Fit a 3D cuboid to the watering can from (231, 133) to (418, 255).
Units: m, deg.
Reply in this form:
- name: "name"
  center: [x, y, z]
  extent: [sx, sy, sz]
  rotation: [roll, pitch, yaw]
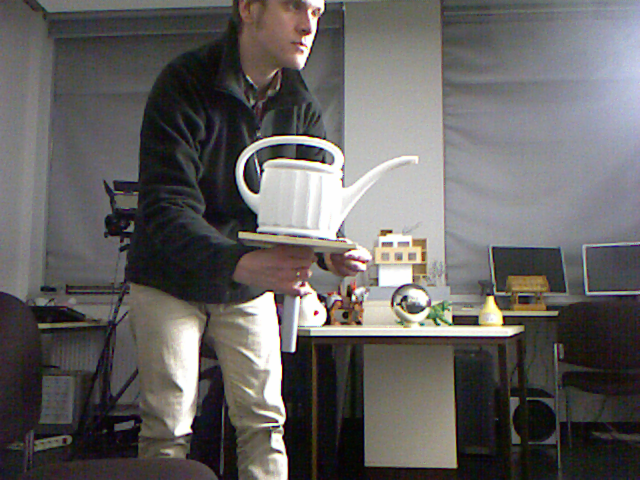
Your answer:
- name: "watering can"
  center: [0.006, -0.083, 0.964]
  extent: [0.348, 0.224, 0.104]
  rotation: [5, 1, -3]
